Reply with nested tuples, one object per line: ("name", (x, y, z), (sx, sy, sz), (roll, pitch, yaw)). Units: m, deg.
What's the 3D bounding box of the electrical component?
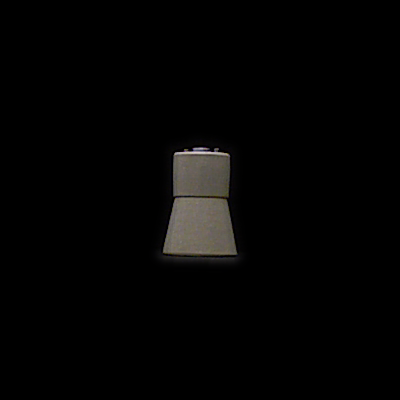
("electrical component", (0.000, 0.000, 0.651), (0.044, 0.065, 0.044), (2, 0, 0))
